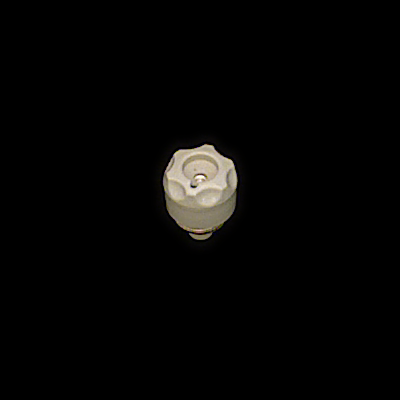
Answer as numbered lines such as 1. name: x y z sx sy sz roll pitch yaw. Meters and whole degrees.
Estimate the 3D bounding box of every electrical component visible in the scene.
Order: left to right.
1. electrical component: 0.000 0.000 0.636 0.043 0.043 0.062 0 -38 0
